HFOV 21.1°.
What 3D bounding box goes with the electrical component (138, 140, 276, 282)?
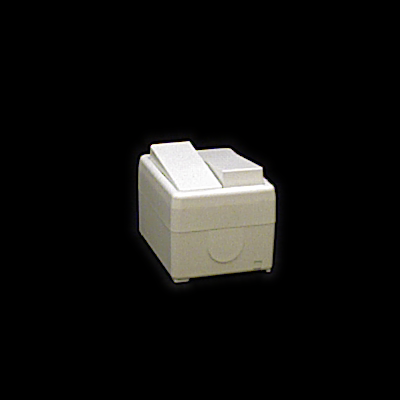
[{"bbox_3d":[0.000,0.000,0.641,0.062,0.061,0.095,-5,22,-17],"label":"electrical component"}]
